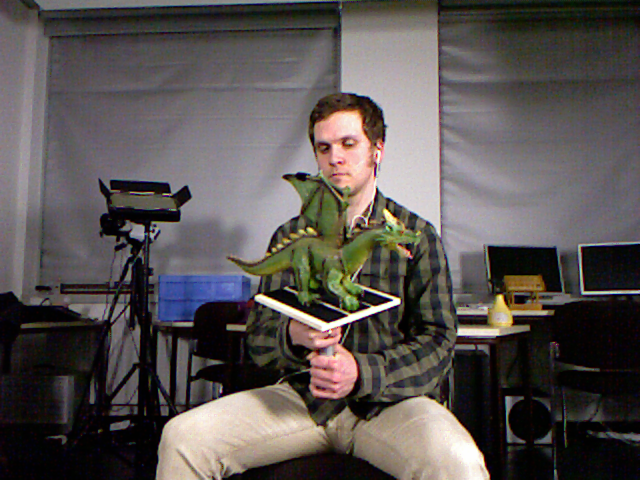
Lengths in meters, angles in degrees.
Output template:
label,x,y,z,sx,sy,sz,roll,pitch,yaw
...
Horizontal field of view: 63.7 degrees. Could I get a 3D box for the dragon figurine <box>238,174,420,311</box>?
label,x,y,z,sx,sy,sz,roll,pitch,yaw
dragon figurine,-0.012,-0.007,0.972,0.412,0.240,0.124,10,20,30
